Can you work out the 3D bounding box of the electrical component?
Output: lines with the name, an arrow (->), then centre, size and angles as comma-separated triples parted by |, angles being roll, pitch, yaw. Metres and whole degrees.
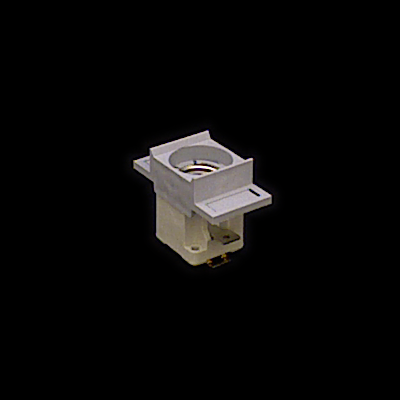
electrical component -> 0.000, 0.000, 0.631 | 0.042, 0.064, 0.080 | -19, 36, -31
